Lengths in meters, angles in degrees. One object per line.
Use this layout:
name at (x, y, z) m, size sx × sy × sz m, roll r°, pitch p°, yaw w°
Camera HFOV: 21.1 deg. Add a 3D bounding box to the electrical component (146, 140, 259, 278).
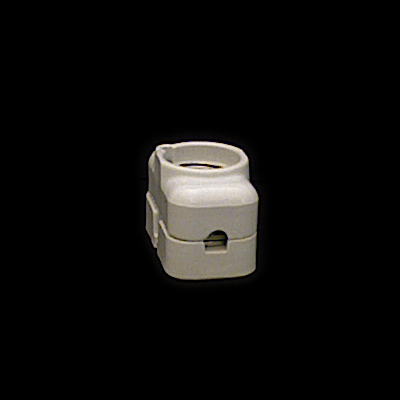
electrical component at (0.000, 0.000, 0.645) m, size 0.054 × 0.060 × 0.093 m, roll -4°, pitch 22°, yaw -12°
